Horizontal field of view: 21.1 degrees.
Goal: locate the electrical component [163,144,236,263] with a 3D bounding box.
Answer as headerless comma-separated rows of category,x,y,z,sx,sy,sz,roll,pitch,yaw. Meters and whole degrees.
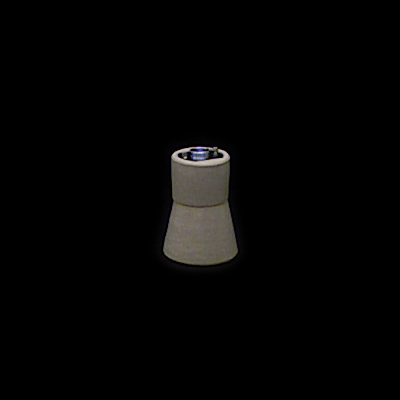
electrical component,0.000,0.000,0.640,0.044,0.066,0.044,0,21,0
